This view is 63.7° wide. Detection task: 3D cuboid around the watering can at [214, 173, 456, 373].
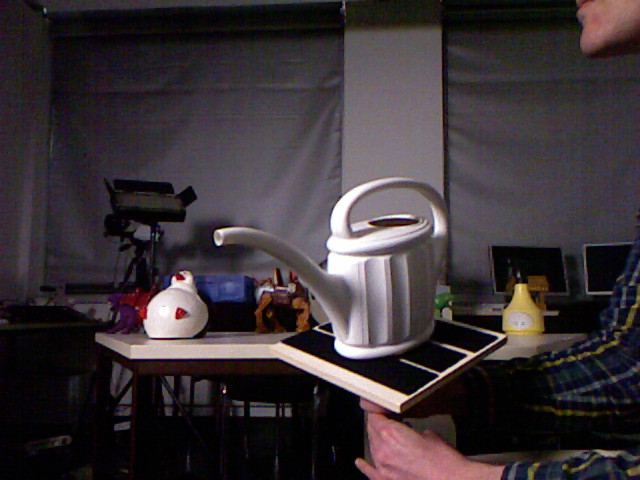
[{"bbox_3d":[0.040,0.045,0.573,0.352,0.223,0.105,-14,19,-40],"label":"watering can"}]
